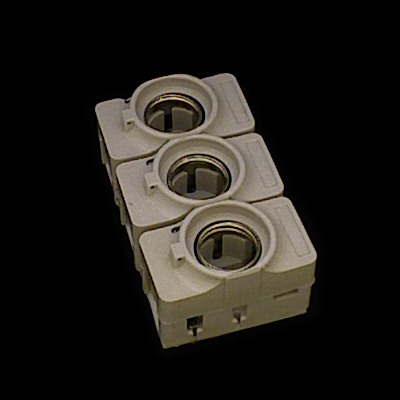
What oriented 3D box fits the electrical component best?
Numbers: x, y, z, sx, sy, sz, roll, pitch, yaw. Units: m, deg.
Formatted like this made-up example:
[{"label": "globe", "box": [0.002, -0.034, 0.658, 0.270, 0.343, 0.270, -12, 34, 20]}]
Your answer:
[{"label": "electrical component", "box": [0.000, 0.000, 0.633, 0.089, 0.148, 0.062, -14, -37, -10]}]
